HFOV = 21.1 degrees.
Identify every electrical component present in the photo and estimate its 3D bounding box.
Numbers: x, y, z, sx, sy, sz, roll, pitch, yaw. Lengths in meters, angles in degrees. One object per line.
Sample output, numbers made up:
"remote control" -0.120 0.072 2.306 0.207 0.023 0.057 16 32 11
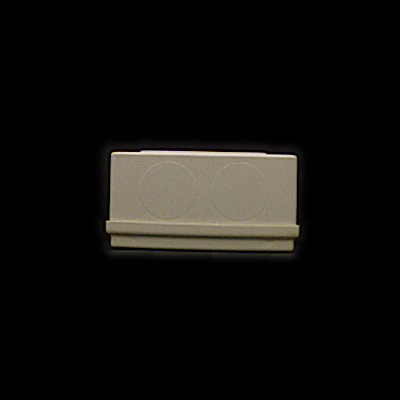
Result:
"electrical component" 0.000 0.000 0.650 0.109 0.056 0.108 1 0 -2
